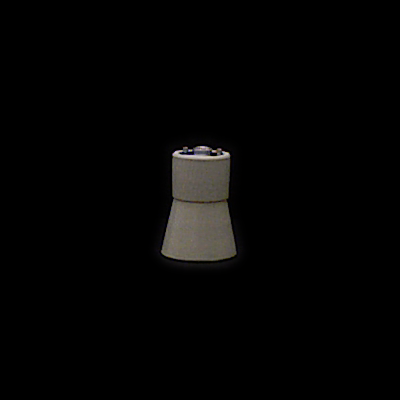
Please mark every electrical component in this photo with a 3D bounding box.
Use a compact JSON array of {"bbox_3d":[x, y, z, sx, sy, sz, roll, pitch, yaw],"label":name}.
[{"bbox_3d":[0.000,0.000,0.642,0.044,0.066,0.044,1,12,0],"label":"electrical component"}]
